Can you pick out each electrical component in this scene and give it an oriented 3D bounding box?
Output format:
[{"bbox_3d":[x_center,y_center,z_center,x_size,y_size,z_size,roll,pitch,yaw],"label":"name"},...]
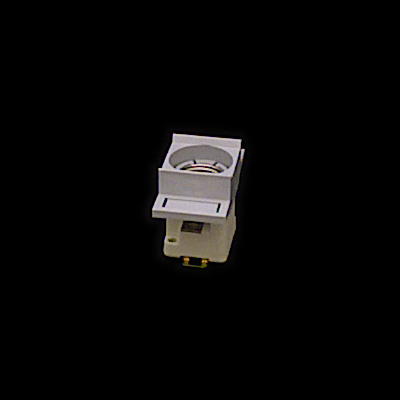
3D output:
[{"bbox_3d":[0.000,0.000,0.635,0.042,0.065,0.079,5,32,9],"label":"electrical component"}]
